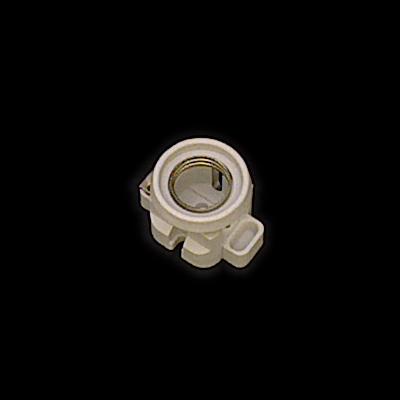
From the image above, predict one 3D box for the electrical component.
[{"bbox_3d":[0.000,0.000,0.628,0.078,0.058,0.057,32,-22,15],"label":"electrical component"}]
